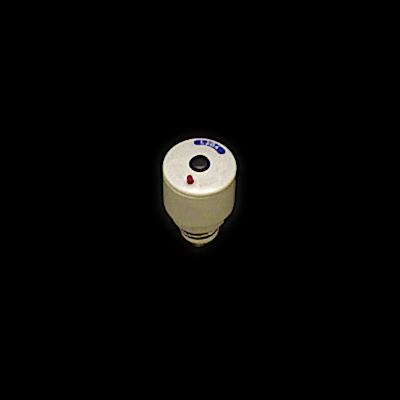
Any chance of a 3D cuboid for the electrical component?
[{"bbox_3d":[0.000,0.000,0.619,0.040,0.040,0.078,0,-37,0],"label":"electrical component"}]
